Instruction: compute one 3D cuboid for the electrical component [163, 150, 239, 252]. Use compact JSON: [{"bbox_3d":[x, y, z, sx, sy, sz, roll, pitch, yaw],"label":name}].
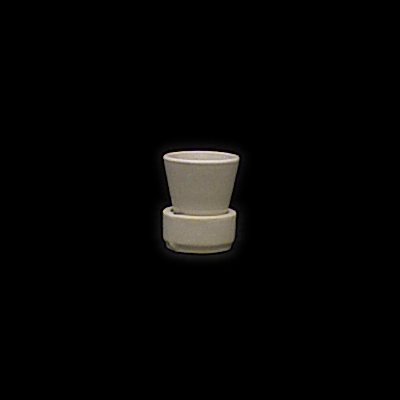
[{"bbox_3d":[0.000,0.000,0.645,0.045,0.055,0.044,1,12,0],"label":"electrical component"}]
